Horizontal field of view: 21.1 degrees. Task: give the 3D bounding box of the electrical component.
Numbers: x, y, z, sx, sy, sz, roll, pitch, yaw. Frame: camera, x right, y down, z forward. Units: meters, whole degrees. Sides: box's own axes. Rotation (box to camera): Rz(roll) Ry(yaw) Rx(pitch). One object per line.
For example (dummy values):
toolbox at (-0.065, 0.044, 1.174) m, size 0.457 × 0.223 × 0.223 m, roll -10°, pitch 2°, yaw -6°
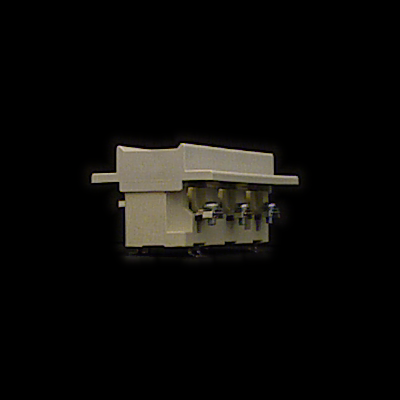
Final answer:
electrical component at (0.000, 0.000, 0.662) m, size 0.078 × 0.063 × 0.122 m, roll 0°, pitch 0°, yaw 28°
